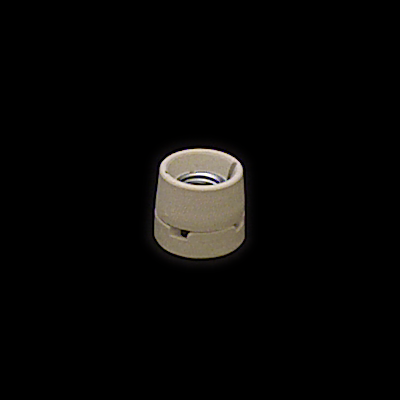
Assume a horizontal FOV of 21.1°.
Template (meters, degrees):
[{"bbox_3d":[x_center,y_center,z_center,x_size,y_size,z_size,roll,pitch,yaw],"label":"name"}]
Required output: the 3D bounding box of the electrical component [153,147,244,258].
[{"bbox_3d":[0.000,0.000,0.638,0.055,0.047,0.055,2,31,-1],"label":"electrical component"}]
